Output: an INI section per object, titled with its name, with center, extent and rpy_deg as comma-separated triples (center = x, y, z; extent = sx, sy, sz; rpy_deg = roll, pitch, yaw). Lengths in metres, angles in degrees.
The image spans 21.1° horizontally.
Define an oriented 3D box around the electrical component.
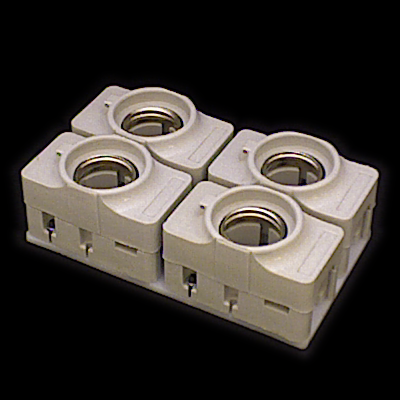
[electrical component]
center = 0.000, 0.000, 0.629
extent = 0.185, 0.061, 0.105
rpy_deg = 20, 45, 20
